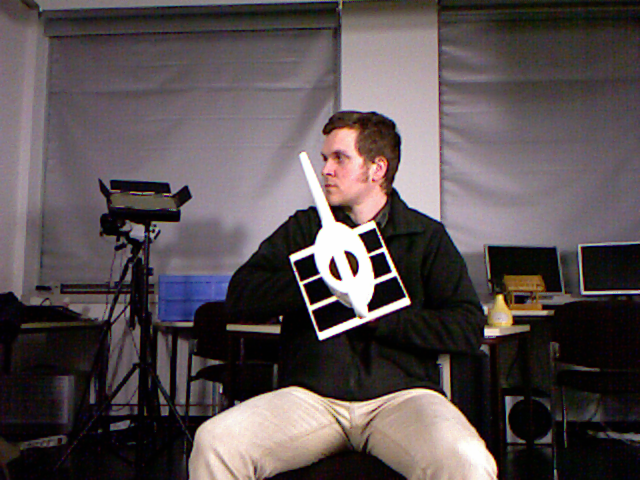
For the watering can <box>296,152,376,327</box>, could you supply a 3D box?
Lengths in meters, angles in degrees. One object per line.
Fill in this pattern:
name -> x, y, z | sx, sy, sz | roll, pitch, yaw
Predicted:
watering can -> 0.036, 0.007, 1.028 | 0.104, 0.354, 0.222 | -20, -20, 3
